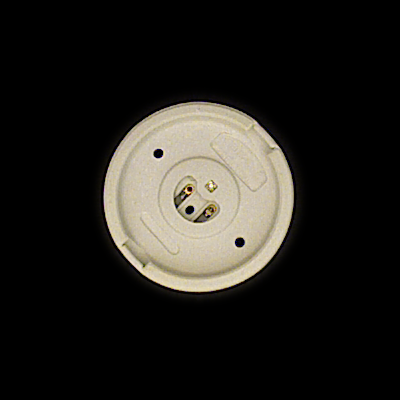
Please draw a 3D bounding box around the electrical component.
[{"bbox_3d":[0.000,0.000,0.635,0.108,0.108,0.060,0,-6,0],"label":"electrical component"}]
